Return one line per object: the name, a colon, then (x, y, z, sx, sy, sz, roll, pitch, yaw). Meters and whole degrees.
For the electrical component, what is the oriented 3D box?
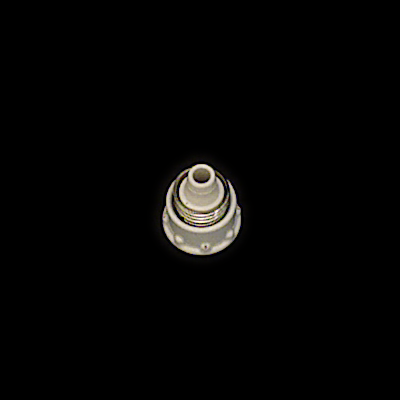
electrical component: (0.000, 0.000, 0.634, 0.048, 0.048, 0.062, 0, -27, 0)
